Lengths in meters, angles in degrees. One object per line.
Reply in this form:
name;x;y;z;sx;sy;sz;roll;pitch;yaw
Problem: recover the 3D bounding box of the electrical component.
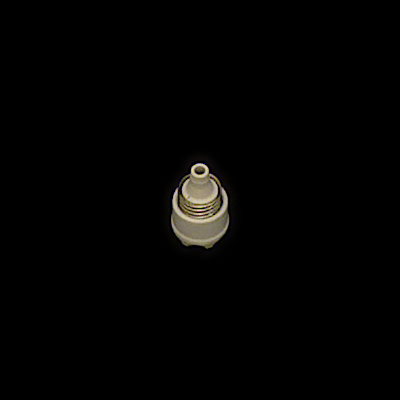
electrical component;0.000;0.000;0.641;0.035;0.035;0.062;0;-36;0
